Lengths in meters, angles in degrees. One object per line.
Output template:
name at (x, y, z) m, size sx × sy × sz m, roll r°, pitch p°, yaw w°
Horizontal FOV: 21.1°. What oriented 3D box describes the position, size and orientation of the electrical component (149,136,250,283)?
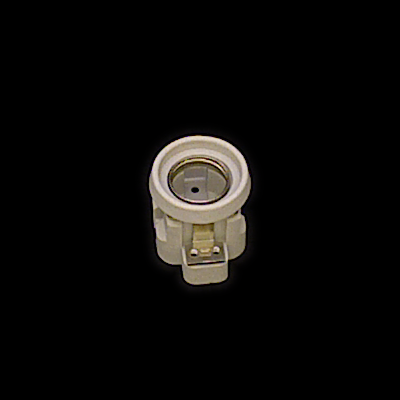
electrical component at (0.000, 0.000, 0.628) m, size 0.058 × 0.078 × 0.057 m, roll -5°, pitch -37°, yaw -5°
